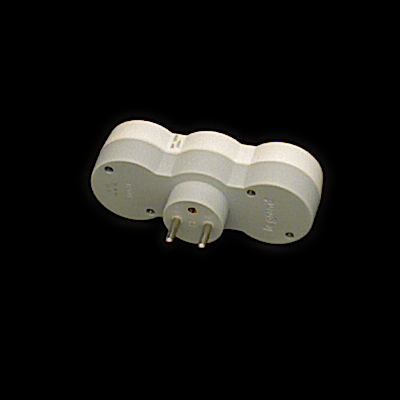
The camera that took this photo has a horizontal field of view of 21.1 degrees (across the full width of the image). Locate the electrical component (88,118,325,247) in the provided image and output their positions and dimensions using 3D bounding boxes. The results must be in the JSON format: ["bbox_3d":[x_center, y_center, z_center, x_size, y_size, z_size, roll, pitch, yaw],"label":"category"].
[{"bbox_3d":[0.000,0.000,0.639,0.137,0.052,0.073,10,45,9],"label":"electrical component"}]
